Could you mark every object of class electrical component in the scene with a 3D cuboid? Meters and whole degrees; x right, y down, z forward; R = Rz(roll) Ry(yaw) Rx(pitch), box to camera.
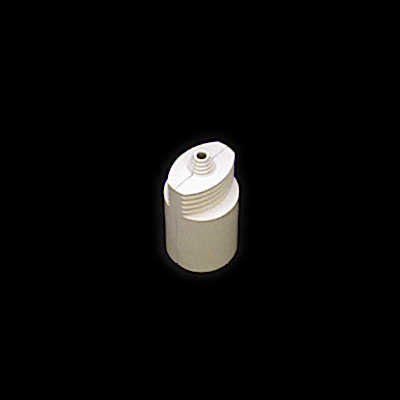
[{"bbox_3d":[0.000,0.000,0.620,0.043,0.043,0.081,0,-38,0],"label":"electrical component"}]
